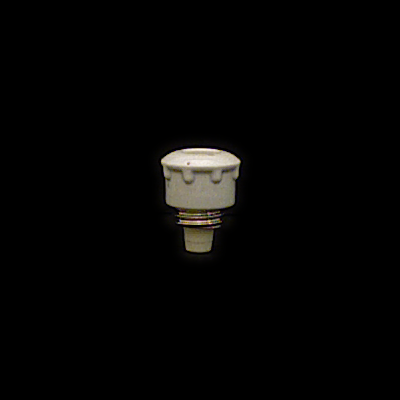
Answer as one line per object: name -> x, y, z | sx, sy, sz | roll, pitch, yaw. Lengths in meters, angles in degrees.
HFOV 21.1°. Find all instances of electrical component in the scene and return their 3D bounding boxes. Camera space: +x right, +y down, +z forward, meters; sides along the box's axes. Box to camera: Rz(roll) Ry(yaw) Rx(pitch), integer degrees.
electrical component -> 0.000, 0.000, 0.652 | 0.048, 0.062, 0.048 | 1, 11, 0
